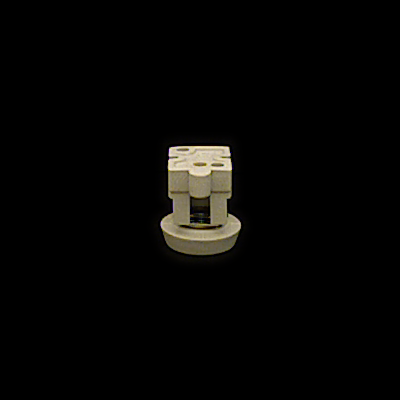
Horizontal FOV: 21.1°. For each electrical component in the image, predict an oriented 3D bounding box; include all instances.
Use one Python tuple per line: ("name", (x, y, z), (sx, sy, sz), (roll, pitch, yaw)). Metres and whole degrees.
("electrical component", (0.000, 0.000, 0.646), (0.048, 0.056, 0.066), (0, 21, 0))
